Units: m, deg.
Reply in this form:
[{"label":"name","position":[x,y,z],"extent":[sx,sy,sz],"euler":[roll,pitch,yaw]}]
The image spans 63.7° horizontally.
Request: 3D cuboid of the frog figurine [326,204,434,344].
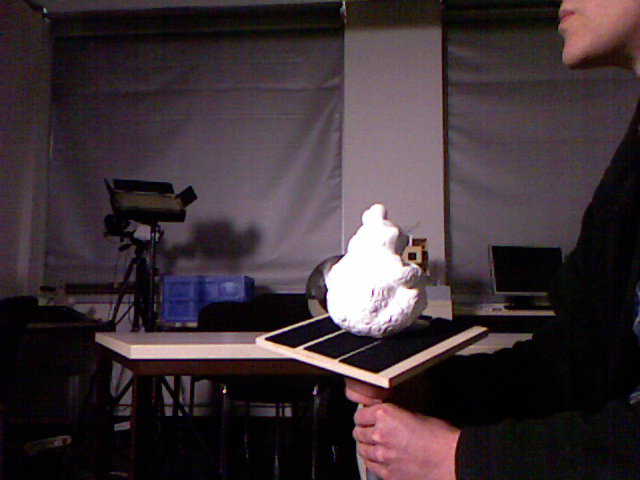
[{"label":"frog figurine","position":[0.068,0.039,0.625],"extent":[0.123,0.158,0.138],"euler":[-11,13,-32]}]
